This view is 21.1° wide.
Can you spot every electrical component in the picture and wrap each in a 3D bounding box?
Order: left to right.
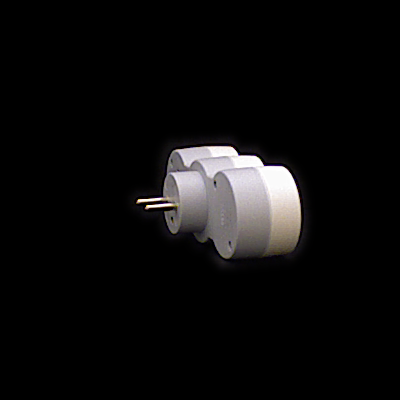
[{"bbox_3d":[0.000,0.000,0.642,0.074,0.052,0.137,-4,12,-18],"label":"electrical component"}]
